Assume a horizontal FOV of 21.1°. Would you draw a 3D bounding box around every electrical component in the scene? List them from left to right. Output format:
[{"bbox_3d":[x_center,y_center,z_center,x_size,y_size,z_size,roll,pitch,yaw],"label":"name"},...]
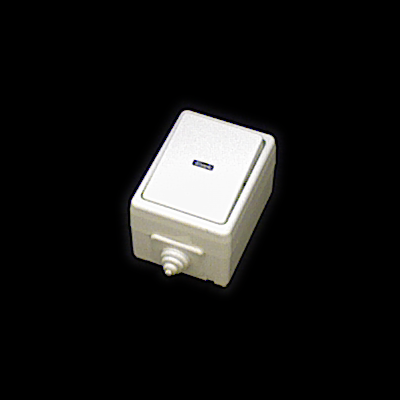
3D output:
[{"bbox_3d":[0.000,0.000,0.626,0.061,0.096,0.061,18,-36,13],"label":"electrical component"}]
